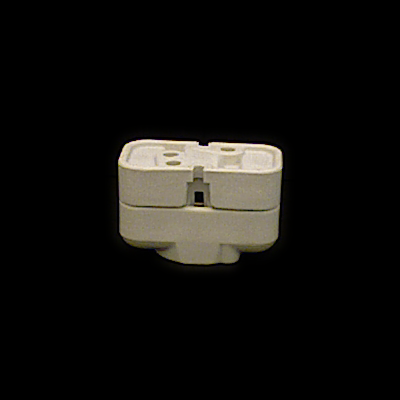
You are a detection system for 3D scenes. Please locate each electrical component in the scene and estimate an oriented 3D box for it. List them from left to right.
[{"bbox_3d":[0.000,0.000,0.644,0.095,0.060,0.053,2,22,2],"label":"electrical component"}]
